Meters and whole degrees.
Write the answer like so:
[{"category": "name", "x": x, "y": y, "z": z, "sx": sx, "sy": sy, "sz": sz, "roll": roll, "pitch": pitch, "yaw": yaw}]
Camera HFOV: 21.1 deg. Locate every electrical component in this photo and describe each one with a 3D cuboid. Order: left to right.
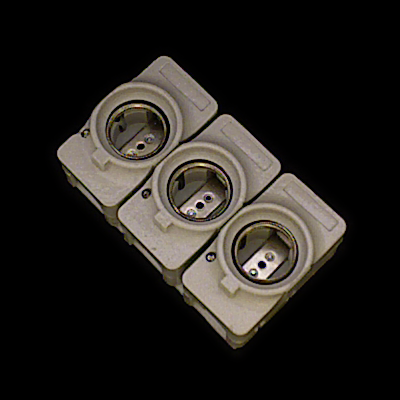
[{"category": "electrical component", "x": 0.000, "y": 0.000, "z": 0.631, "sx": 0.150, "sy": 0.089, "sz": 0.062, "roll": 44, "pitch": -11, "yaw": 12}]
